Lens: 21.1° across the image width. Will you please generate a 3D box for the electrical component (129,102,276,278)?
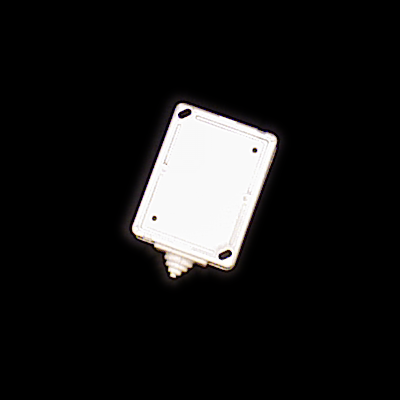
[{"bbox_3d":[0.000,0.000,0.629,0.062,0.096,0.061,20,-6,3],"label":"electrical component"}]
